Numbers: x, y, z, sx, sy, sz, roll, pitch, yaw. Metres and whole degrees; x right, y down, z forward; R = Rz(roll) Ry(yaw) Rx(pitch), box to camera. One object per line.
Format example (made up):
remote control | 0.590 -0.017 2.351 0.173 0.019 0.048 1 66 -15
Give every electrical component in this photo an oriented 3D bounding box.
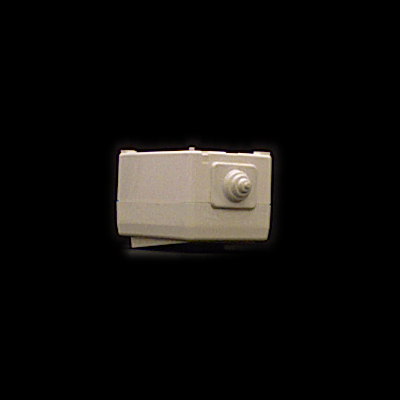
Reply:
electrical component | 0.000 0.000 0.647 0.062 0.061 0.096 1 1 -36
